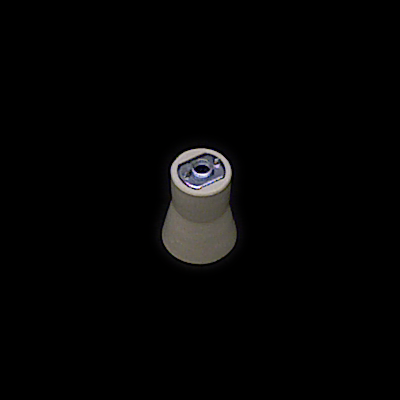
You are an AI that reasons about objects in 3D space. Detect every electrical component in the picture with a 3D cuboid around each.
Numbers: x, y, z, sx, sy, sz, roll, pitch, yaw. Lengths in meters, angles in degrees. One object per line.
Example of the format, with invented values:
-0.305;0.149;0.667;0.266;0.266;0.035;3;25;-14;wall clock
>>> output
0.000;0.000;0.625;0.044;0.044;0.065;0;-37;-1;electrical component
